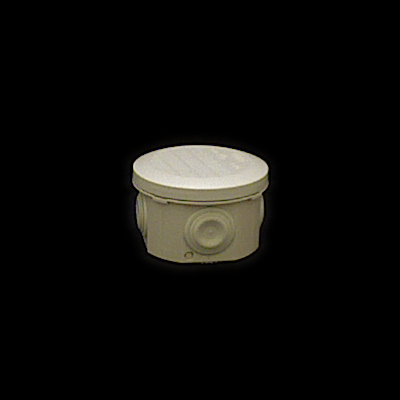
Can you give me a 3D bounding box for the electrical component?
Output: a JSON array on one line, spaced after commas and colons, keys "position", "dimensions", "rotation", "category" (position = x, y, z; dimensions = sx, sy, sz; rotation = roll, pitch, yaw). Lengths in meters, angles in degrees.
[{"position": [0.000, 0.000, 0.638], "dimensions": [0.080, 0.051, 0.079], "rotation": [1, 21, 0], "category": "electrical component"}]
